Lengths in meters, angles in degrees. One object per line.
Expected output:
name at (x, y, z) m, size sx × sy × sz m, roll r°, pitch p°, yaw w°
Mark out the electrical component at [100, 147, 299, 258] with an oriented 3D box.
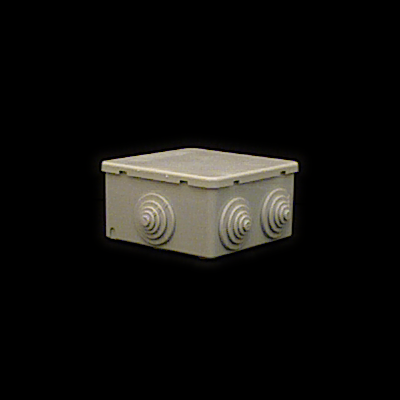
electrical component at (0.000, 0.000, 0.653) m, size 0.098 × 0.049 × 0.100 m, roll 10°, pitch 14°, yaw 37°
